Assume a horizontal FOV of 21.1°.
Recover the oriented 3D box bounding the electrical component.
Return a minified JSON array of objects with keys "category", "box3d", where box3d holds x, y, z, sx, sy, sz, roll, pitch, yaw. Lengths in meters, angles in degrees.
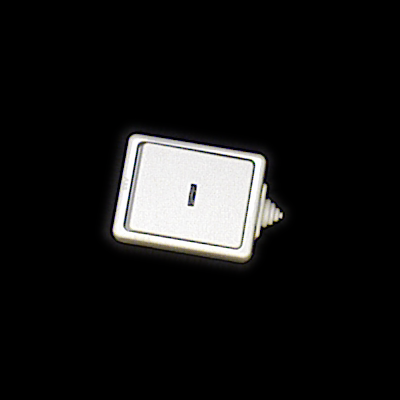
[{"category":"electrical component","box3d":[0.000,0.000,0.627,0.096,0.062,0.061,9,-6,1]}]
